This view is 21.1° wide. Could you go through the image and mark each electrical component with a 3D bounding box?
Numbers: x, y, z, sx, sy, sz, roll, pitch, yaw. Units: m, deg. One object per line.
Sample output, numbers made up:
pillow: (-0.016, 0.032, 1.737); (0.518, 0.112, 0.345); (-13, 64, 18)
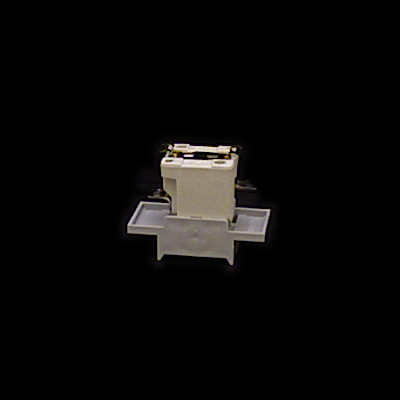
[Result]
electrical component: (0.000, 0.000, 0.638); (0.081, 0.064, 0.041); (4, 22, 6)
